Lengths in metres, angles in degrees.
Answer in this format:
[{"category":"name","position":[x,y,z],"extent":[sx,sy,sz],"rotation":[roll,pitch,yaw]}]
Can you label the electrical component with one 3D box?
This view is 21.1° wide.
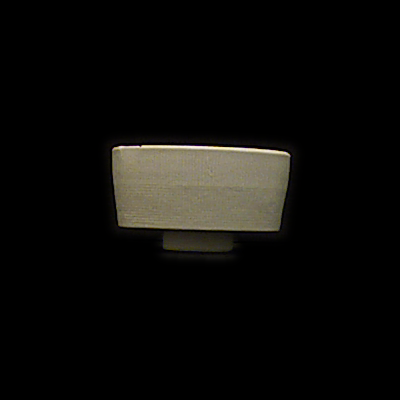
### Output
[{"category":"electrical component","position":[0.000,0.000,0.652],"extent":[0.108,0.060,0.108],"rotation":[2,0,1]}]
